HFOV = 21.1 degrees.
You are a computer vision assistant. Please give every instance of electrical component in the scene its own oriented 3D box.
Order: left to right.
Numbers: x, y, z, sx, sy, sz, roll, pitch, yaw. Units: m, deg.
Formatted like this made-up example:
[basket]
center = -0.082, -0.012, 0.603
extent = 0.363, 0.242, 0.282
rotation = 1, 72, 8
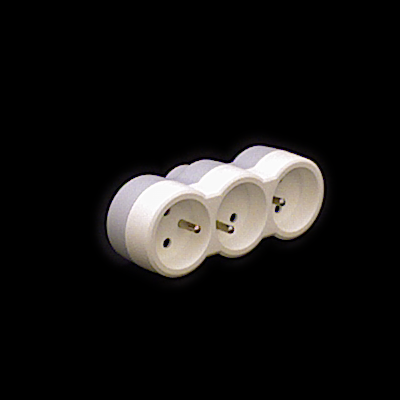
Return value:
[electrical component]
center = 0.000, 0.000, 0.638
extent = 0.138, 0.053, 0.073
rotation = -17, 25, -37
